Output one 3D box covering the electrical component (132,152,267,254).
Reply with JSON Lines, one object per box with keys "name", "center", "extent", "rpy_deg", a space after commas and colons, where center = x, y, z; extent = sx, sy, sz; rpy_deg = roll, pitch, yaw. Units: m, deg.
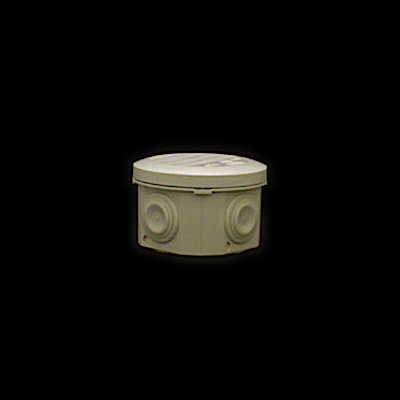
{"name": "electrical component", "center": [0.000, 0.000, 0.642], "extent": [0.080, 0.051, 0.079], "rpy_deg": [1, 10, 0]}
